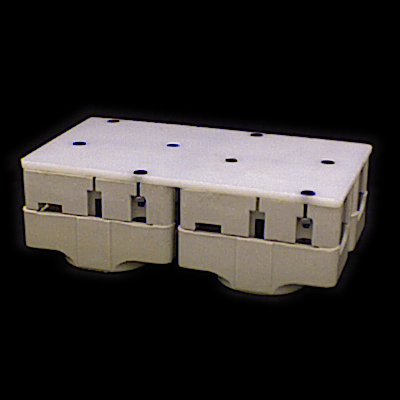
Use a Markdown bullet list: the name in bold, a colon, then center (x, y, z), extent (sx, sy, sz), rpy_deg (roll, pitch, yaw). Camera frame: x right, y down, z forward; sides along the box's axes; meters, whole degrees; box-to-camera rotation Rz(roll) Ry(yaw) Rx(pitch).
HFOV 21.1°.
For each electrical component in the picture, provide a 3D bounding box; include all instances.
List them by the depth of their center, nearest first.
- **electrical component**: center (0.000, 0.000, 0.638), extent (0.186, 0.061, 0.104), rpy_deg (7, 21, 16)
